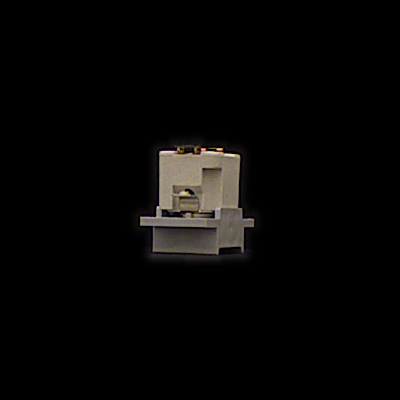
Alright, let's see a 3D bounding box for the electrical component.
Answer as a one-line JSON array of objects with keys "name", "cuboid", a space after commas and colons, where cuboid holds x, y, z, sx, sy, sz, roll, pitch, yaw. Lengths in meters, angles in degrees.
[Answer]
[{"name": "electrical component", "cuboid": [0.000, 0.000, 0.649, 0.042, 0.064, 0.081, 2, 0, 21]}]
